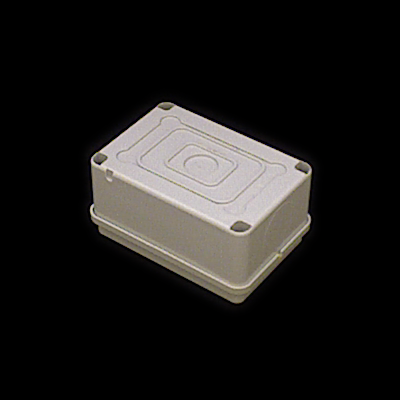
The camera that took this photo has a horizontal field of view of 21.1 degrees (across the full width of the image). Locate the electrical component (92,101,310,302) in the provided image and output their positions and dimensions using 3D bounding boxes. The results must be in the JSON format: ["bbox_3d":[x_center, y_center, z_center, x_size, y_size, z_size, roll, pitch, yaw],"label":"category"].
[{"bbox_3d":[0.000,0.000,0.632,0.112,0.057,0.078,27,48,25],"label":"electrical component"}]
